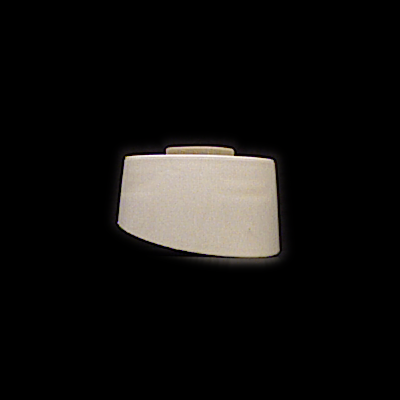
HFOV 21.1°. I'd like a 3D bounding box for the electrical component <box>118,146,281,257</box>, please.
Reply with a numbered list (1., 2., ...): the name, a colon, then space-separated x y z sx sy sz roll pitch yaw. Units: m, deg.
1. electrical component: 0.000 0.000 0.649 0.099 0.064 0.099 2 0 0
